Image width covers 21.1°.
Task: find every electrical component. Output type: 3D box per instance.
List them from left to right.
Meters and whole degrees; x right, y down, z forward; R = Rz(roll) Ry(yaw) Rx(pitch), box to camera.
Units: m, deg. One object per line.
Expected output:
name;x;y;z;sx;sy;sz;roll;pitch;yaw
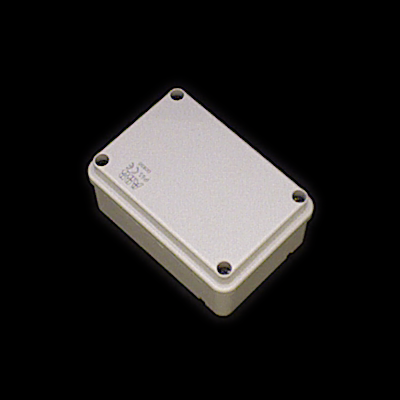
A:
electrical component;0.000;0.000;0.626;0.113;0.078;0.057;41;-20;18
